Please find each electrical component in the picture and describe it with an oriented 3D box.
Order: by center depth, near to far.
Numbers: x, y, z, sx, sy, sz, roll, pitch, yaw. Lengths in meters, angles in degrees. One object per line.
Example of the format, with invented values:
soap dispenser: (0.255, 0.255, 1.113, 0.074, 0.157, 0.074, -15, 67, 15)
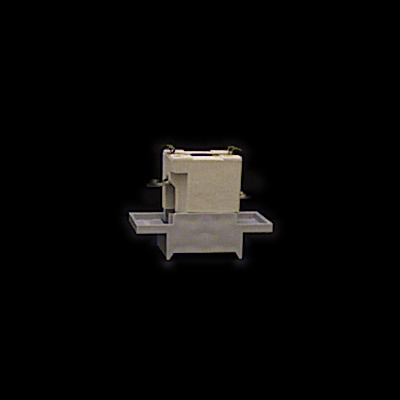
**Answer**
electrical component: (0.000, 0.000, 0.645, 0.081, 0.064, 0.042, -1, 11, -11)
